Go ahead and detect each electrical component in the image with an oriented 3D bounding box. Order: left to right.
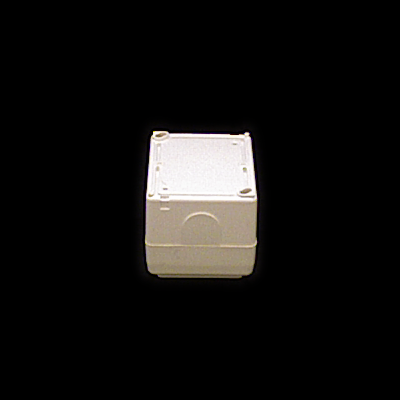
[{"bbox_3d":[0.000,0.000,0.636,0.062,0.061,0.095,1,31,-1],"label":"electrical component"}]
